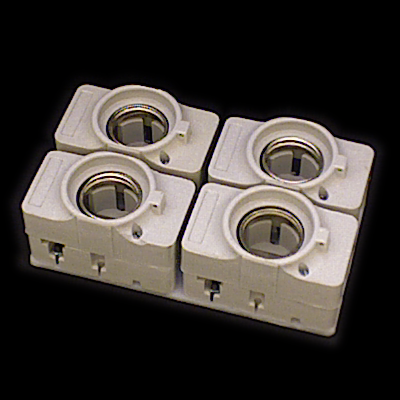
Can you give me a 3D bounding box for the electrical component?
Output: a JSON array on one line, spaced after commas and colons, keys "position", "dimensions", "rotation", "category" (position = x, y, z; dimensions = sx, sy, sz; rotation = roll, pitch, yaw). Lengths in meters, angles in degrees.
[{"position": [0.000, 0.000, 0.628], "dimensions": [0.186, 0.105, 0.060], "rotation": [13, -37, 9], "category": "electrical component"}]
